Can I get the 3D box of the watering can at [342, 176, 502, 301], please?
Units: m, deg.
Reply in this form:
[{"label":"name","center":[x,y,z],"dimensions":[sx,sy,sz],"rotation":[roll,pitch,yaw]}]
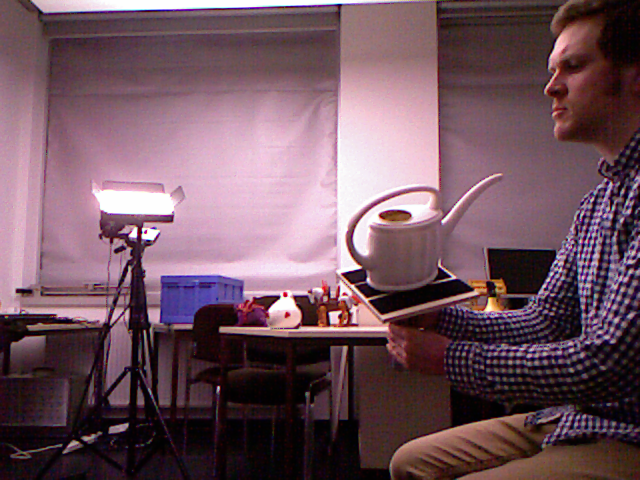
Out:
[{"label":"watering can","center":[0.199,-0.007,0.985],"dimensions":[0.350,0.220,0.106],"rotation":[-12,31,-22]}]
